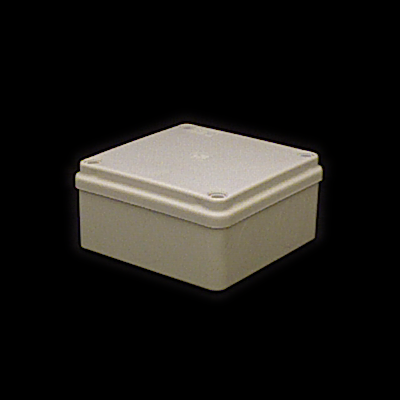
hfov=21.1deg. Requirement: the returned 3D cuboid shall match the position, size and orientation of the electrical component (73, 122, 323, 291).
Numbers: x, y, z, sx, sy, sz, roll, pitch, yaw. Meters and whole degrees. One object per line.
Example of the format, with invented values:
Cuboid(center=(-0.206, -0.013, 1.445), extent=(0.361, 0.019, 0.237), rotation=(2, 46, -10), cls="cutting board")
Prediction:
Cuboid(center=(0.000, 0.000, 0.638), extent=(0.108, 0.057, 0.108), rotation=(16, 26, 34), cls="electrical component")
